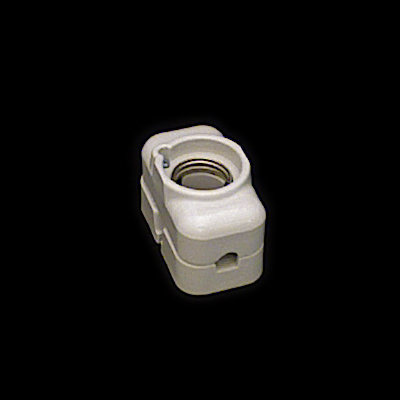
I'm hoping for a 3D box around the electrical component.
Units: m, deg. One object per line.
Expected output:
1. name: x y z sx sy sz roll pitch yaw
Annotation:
1. electrical component: 0.000 0.000 0.637 0.054 0.060 0.094 -13 44 -15
